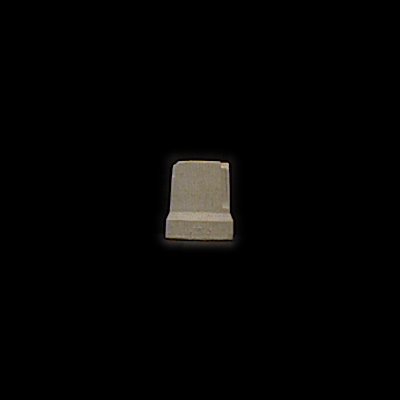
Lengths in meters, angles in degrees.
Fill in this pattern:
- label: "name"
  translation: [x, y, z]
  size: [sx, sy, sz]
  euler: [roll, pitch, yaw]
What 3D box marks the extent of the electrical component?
- label: "electrical component"
  translation: [0.000, 0.000, 0.652]
  size: [0.040, 0.046, 0.040]
  euler: [2, 1, 0]
